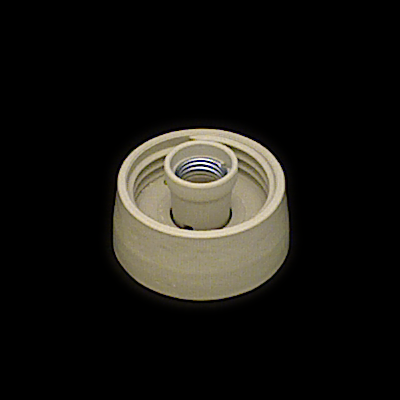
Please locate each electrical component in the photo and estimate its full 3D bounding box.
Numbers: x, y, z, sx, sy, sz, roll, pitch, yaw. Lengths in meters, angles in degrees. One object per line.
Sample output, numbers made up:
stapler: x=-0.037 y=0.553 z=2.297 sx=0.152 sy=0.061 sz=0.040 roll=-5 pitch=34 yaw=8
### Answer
electrical component: x=0.000 y=0.000 z=0.639 sx=0.108 sy=0.061 sz=0.106 roll=1 pitch=42 yaw=0
